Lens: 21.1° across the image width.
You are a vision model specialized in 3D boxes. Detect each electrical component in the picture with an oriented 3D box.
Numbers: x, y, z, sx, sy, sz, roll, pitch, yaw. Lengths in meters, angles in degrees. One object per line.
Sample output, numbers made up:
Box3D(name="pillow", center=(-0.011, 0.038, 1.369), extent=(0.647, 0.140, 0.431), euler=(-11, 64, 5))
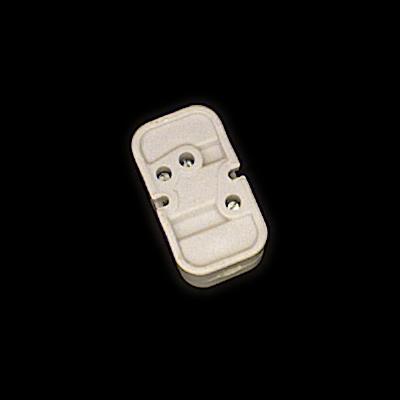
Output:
Box3D(name="electrical component", center=(0.000, 0.000, 0.635), extent=(0.054, 0.095, 0.059), euler=(-21, -14, -6))
